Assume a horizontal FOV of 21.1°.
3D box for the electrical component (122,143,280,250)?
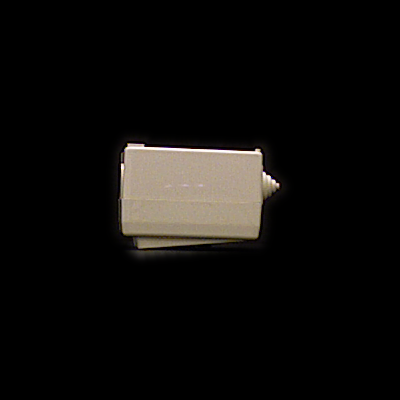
[{"bbox_3d":[0.000,0.000,0.648,0.096,0.061,0.061,2,0,-6],"label":"electrical component"}]
